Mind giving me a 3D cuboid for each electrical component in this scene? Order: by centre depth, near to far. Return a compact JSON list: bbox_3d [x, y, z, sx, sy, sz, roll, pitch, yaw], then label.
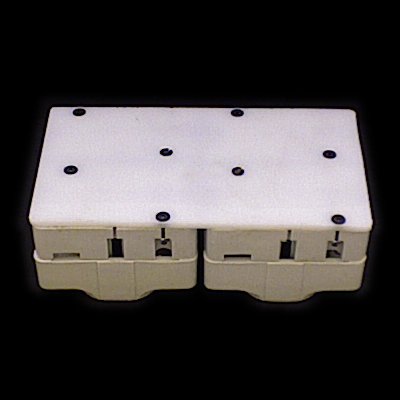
[{"bbox_3d":[0.000,0.000,0.630,0.186,0.061,0.104,1,42,0],"label":"electrical component"}]
